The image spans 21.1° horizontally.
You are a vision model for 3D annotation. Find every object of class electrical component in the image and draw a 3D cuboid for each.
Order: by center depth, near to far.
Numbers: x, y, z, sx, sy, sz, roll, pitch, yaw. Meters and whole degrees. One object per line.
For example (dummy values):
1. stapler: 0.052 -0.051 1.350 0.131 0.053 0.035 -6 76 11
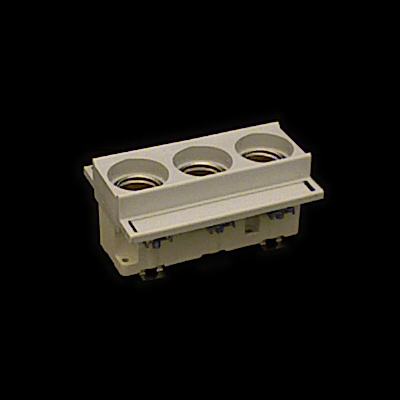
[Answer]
1. electrical component: 0.000 0.000 0.646 0.121 0.064 0.077 -13 36 -20
